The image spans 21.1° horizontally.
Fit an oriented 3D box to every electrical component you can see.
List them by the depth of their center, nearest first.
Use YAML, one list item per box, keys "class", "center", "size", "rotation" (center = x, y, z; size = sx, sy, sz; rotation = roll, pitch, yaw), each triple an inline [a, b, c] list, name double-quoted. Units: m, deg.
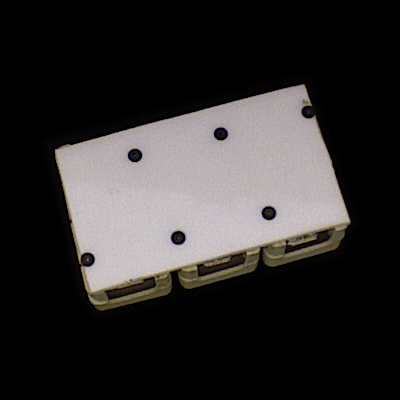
- class: "electrical component"
  center: [0.000, 0.000, 0.630]
  size: [0.150, 0.089, 0.062]
  rotation: [-15, -17, -4]
